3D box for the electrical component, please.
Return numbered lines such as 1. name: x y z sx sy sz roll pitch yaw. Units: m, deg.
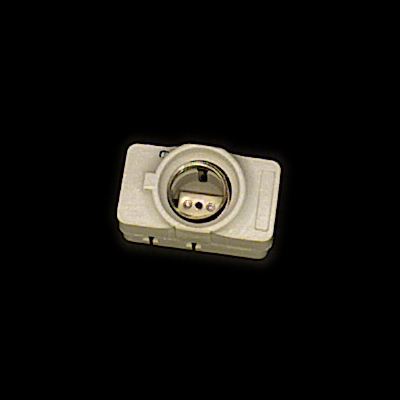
1. electrical component: 0.000 0.000 0.636 0.089 0.050 0.055 7 -16 2
